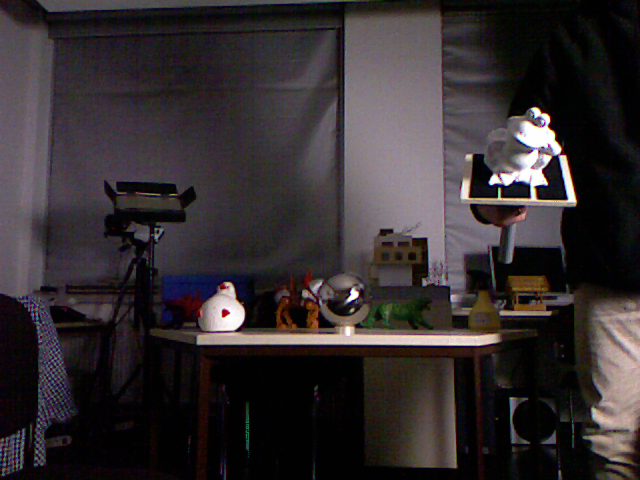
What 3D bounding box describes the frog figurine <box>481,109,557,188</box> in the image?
[{"bbox_3d":[0.390,-0.189,1.008,0.138,0.156,0.125,14,39,25],"label":"frog figurine"}]
